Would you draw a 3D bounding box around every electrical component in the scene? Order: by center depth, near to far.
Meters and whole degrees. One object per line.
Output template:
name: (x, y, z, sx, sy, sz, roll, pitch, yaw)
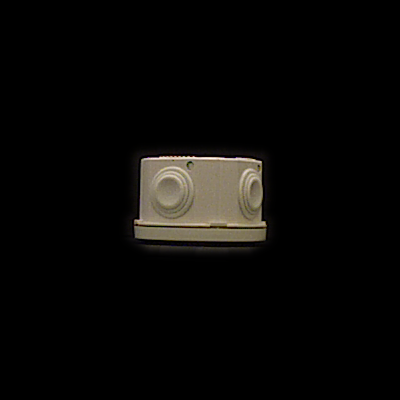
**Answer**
electrical component: (0.000, 0.000, 0.650, 0.080, 0.051, 0.080, 1, 1, 0)
